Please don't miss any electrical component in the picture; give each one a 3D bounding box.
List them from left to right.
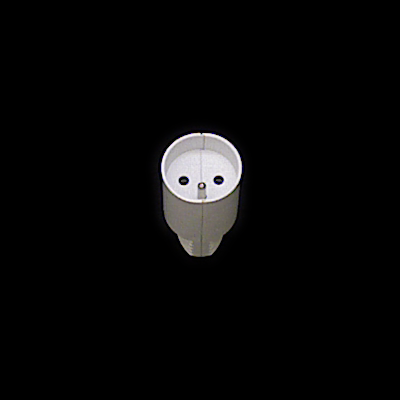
[{"bbox_3d":[0.000,0.000,0.615,0.043,0.043,0.081,0,-27,1],"label":"electrical component"}]
